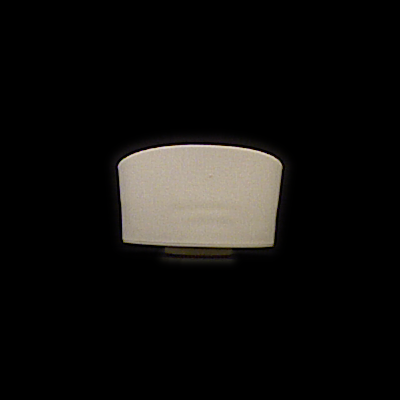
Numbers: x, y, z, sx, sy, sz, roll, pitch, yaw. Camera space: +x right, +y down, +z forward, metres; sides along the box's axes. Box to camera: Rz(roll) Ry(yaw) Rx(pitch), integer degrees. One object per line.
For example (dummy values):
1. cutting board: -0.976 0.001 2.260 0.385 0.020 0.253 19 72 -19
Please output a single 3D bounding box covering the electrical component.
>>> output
1. electrical component: 0.000 0.000 0.649 0.099 0.064 0.099 2 1 0
